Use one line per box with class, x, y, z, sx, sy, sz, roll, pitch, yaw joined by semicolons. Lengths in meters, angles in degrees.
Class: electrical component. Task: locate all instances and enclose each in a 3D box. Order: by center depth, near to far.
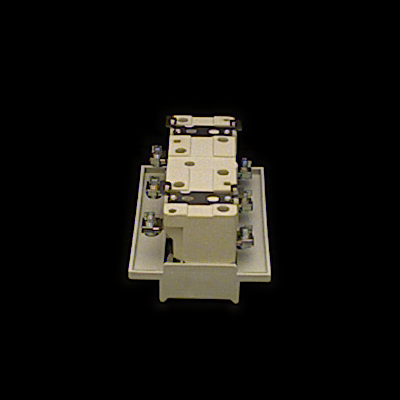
electrical component;0.000;0.000;0.642;0.079;0.064;0.119;1;32;0
